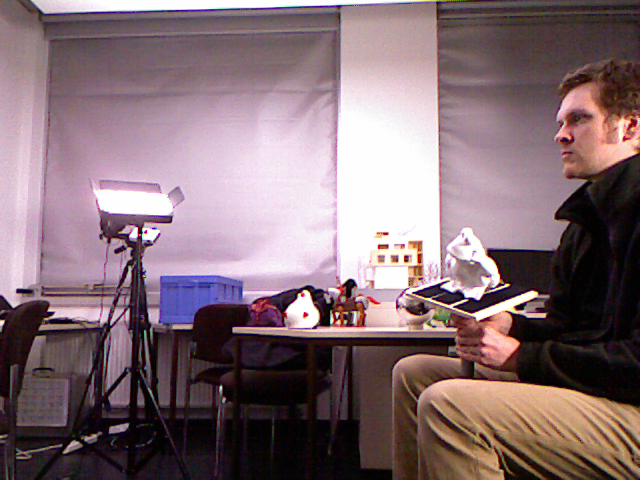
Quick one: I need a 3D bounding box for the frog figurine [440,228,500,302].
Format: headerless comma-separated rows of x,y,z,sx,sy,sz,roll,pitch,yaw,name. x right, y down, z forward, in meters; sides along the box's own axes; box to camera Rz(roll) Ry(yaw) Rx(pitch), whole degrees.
0.338,0.044,1.155,0.123,0.157,0.139,-8,17,-18,frog figurine
